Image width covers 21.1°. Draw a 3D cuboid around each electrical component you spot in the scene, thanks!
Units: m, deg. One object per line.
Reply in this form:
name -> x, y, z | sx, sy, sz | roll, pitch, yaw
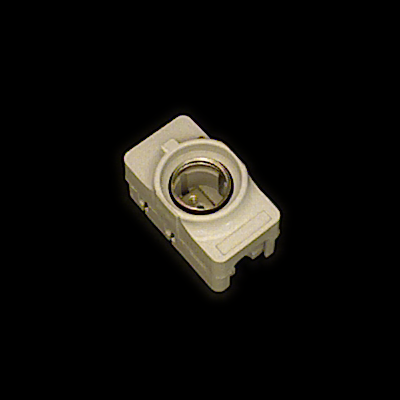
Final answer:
electrical component -> 0.000, 0.000, 0.636 | 0.050, 0.089, 0.055 | -37, -21, -17
